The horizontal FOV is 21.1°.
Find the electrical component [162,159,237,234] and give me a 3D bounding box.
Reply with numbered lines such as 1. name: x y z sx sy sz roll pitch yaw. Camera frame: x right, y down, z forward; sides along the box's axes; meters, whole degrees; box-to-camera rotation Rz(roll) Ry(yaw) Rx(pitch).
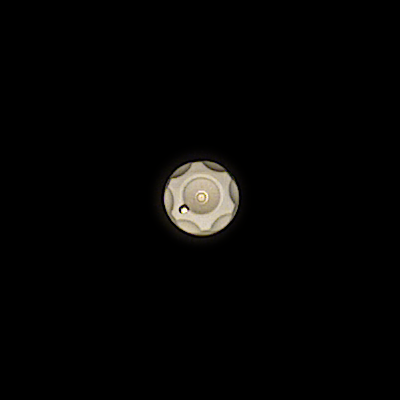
1. electrical component: 0.000 0.000 0.635 0.043 0.043 0.062 0 -6 1
